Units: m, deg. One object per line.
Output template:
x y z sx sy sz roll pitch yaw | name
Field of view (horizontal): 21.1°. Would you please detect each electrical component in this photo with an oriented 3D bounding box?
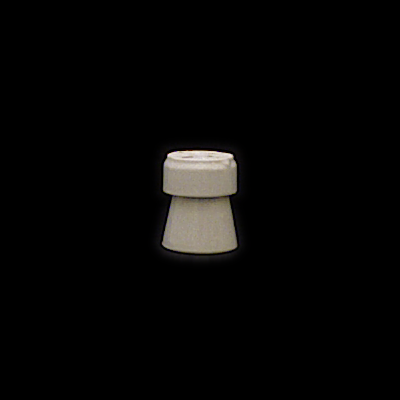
0.000 0.000 0.643 0.045 0.055 0.044 1 11 0 | electrical component
